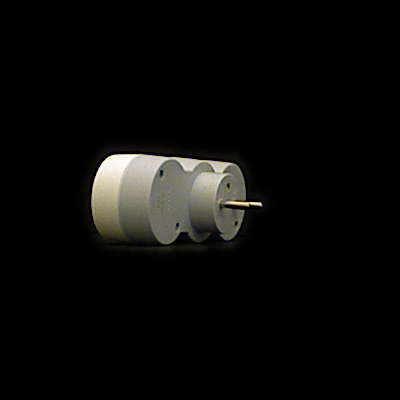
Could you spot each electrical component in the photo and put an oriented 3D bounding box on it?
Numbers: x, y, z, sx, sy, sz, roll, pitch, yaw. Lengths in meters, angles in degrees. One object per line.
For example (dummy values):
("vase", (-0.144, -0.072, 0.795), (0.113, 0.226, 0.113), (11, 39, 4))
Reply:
("electrical component", (0.000, 0.000, 0.654), (0.073, 0.052, 0.139), (3, 1, 25))
